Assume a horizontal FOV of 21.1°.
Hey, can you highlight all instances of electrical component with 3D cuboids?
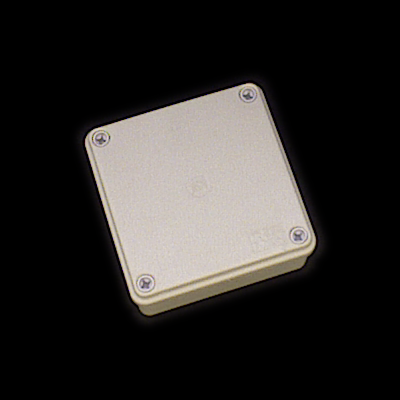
[{"bbox_3d":[0.000,0.000,0.629,0.109,0.109,0.056,-17,-17,-5],"label":"electrical component"}]
